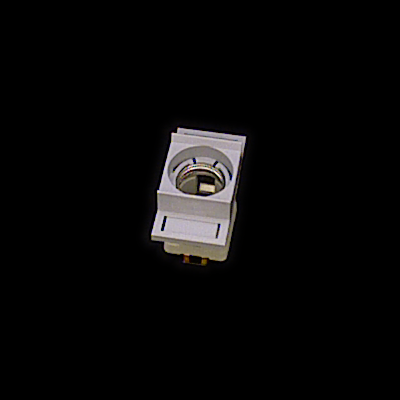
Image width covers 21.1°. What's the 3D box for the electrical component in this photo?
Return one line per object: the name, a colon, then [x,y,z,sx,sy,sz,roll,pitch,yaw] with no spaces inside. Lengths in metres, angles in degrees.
electrical component: [0.000,0.000,0.628,0.042,0.080,0.064,8,-37,7]
